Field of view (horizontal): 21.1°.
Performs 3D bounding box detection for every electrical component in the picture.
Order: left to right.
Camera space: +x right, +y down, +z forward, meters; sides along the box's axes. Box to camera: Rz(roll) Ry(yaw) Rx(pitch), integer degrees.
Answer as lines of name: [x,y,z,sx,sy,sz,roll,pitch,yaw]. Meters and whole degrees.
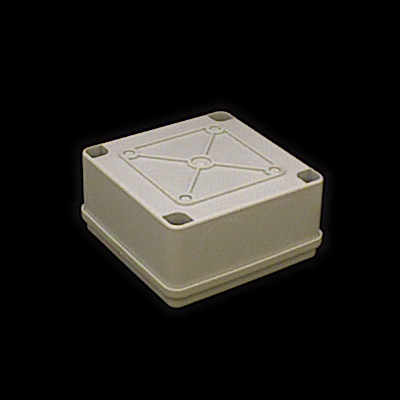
electrical component: [0.000,0.000,0.636,0.108,0.057,0.107,-18,37,-29]
